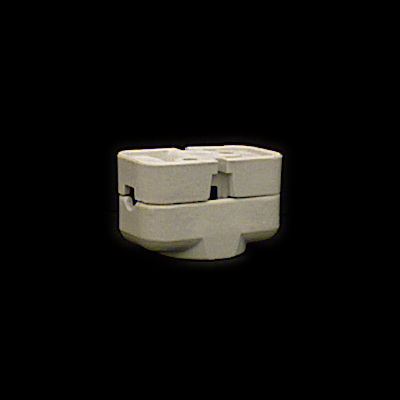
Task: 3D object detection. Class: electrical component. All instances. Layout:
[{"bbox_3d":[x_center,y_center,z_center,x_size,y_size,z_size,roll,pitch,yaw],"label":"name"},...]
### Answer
[{"bbox_3d":[0.000,0.000,0.652,0.096,0.060,0.053,-5,13,-29],"label":"electrical component"}]
